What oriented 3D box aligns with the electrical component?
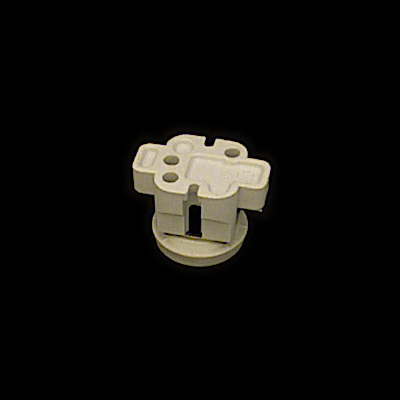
[{"bbox_3d":[0.000,0.000,0.640,0.078,0.057,0.057,9,42,7],"label":"electrical component"}]
